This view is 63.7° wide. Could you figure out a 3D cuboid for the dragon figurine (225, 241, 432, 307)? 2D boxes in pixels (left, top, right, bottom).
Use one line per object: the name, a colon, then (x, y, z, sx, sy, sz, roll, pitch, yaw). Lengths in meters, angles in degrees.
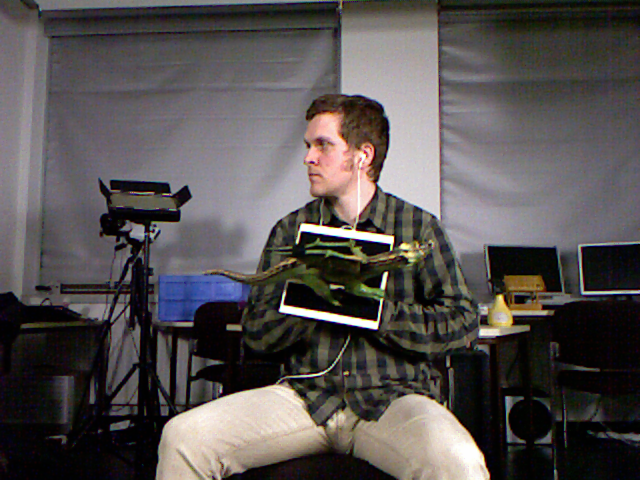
dragon figurine: (-0.003, 0.042, 0.946, 0.412, 0.125, 0.240, -4, -20, 5)
